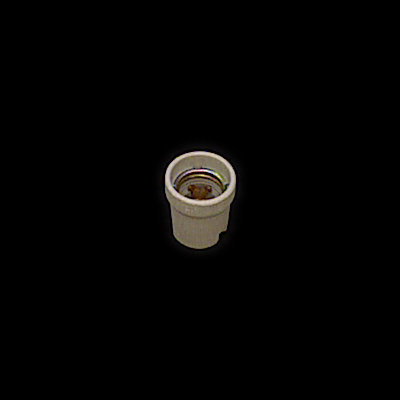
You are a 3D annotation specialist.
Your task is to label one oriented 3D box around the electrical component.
[{"bbox_3d":[0.000,0.000,0.630,0.040,0.040,0.047,0,-38,-1],"label":"electrical component"}]
